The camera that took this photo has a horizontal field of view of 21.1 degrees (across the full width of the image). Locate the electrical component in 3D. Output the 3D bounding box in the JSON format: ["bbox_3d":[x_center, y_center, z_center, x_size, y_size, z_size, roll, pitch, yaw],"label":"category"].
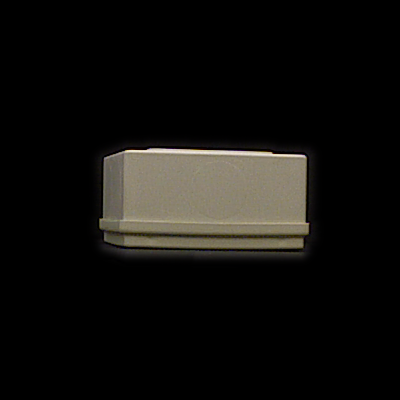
[{"bbox_3d":[0.000,0.000,0.646,0.109,0.056,0.108,1,0,-12],"label":"electrical component"}]
